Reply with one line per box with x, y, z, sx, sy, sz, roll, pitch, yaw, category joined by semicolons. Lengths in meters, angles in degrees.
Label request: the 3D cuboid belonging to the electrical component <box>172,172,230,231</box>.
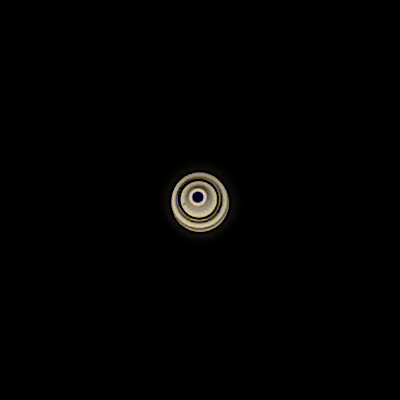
0.000;0.000;0.638;0.035;0.035;0.061;0;-4;2;electrical component
